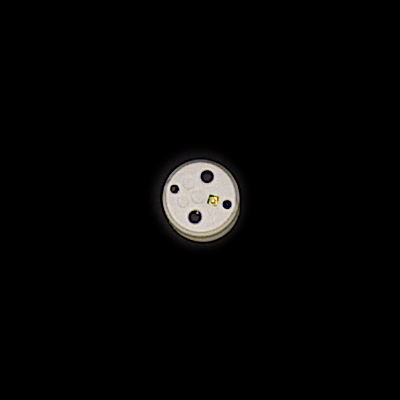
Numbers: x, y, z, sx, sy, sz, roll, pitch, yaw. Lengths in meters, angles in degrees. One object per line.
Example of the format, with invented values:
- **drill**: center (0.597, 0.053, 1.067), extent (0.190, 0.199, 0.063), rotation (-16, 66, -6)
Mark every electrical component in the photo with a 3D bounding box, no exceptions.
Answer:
- **electrical component**: center (0.000, 0.000, 0.629), extent (0.045, 0.045, 0.055), rotation (0, -6, 1)
